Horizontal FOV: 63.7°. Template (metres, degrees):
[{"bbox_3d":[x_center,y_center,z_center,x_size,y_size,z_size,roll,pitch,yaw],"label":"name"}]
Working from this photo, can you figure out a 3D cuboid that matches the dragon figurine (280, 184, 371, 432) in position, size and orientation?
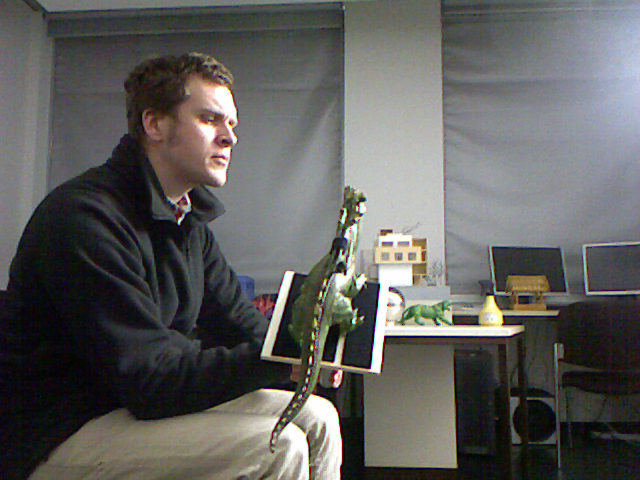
[{"bbox_3d":[0.014,0.070,0.824,0.123,0.422,0.238,12,-41,8],"label":"dragon figurine"}]
